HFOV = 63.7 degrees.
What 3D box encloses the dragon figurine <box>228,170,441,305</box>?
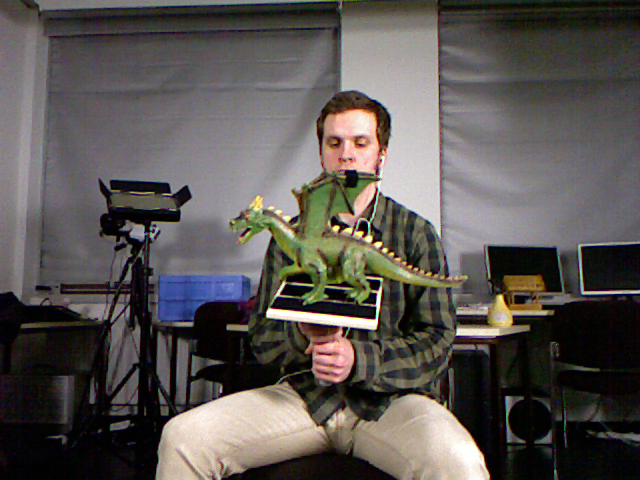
[{"bbox_3d":[0.037,-0.011,0.973,0.411,0.239,0.125,-2,26,-6],"label":"dragon figurine"}]
